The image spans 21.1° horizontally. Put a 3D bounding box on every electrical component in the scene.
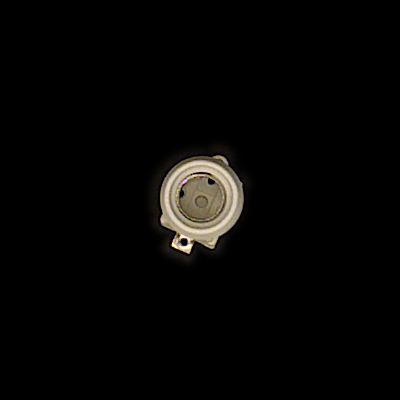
[{"bbox_3d":[0.000,0.000,0.639,0.048,0.066,0.055,23,-5,5],"label":"electrical component"}]
